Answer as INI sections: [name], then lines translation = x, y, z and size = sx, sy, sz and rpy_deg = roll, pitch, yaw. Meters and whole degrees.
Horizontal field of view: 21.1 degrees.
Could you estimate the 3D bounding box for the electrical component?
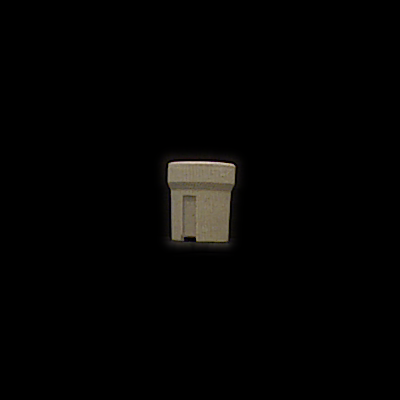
[electrical component]
translation = 0.000, 0.000, 0.651
size = 0.040, 0.046, 0.040
rpy_deg = 1, 1, 0
